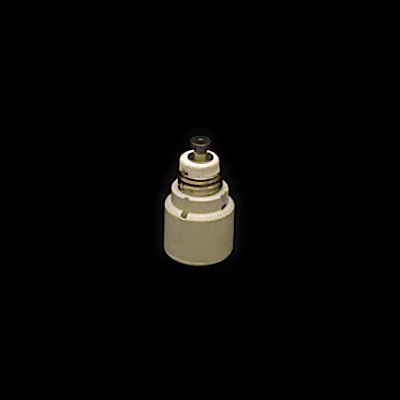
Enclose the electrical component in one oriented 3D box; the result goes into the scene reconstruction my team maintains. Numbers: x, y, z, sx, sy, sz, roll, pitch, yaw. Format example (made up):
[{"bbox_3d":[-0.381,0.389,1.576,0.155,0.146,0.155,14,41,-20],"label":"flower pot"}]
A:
[{"bbox_3d":[0.000,0.000,0.628,0.040,0.079,0.039,1,30,0],"label":"electrical component"}]
